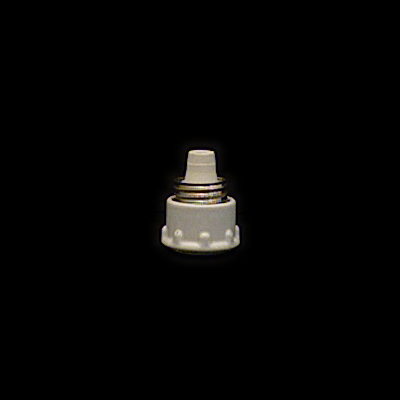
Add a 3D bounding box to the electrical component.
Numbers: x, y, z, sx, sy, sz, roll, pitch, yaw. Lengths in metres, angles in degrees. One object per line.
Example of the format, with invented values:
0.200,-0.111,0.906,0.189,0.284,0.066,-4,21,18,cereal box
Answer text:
0.000,0.000,0.652,0.048,0.062,0.048,1,11,0,electrical component
